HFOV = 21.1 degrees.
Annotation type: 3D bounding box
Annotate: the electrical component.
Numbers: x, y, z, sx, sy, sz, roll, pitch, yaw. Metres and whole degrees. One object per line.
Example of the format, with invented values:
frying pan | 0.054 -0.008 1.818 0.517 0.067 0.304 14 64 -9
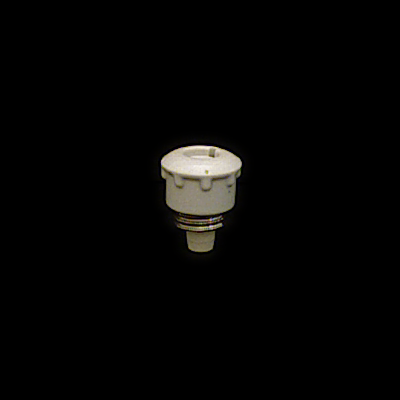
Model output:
electrical component | 0.000 0.000 0.647 0.048 0.063 0.047 1 22 0
